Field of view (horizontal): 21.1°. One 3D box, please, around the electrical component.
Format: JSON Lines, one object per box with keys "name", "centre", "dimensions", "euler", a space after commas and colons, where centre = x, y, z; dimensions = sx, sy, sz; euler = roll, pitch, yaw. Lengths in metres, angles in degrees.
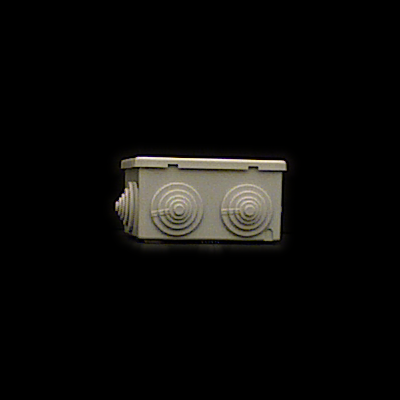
{"name": "electrical component", "centre": [0.000, 0.000, 0.655], "dimensions": [0.100, 0.048, 0.099], "euler": [1, 1, -10]}
